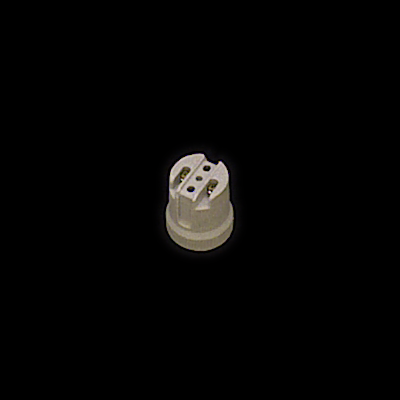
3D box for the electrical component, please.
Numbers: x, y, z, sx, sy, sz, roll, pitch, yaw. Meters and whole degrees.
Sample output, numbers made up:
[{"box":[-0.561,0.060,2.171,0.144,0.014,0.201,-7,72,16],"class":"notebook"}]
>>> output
[{"box":[0.000,0.000,0.633,0.040,0.040,0.046,0,-38,0],"class":"electrical component"}]
